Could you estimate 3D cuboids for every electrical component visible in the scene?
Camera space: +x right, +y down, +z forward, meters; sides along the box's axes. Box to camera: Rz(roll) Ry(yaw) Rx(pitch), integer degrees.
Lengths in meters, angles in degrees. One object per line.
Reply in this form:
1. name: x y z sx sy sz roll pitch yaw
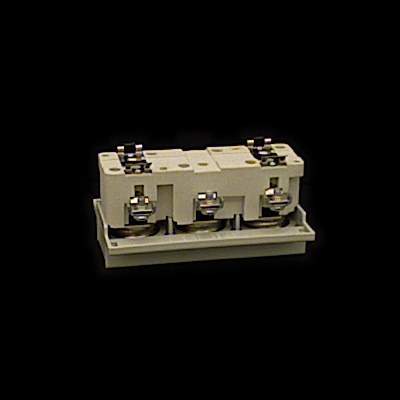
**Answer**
1. electrical component: 0.000 0.000 0.648 0.122 0.064 0.077 -3 21 -12
